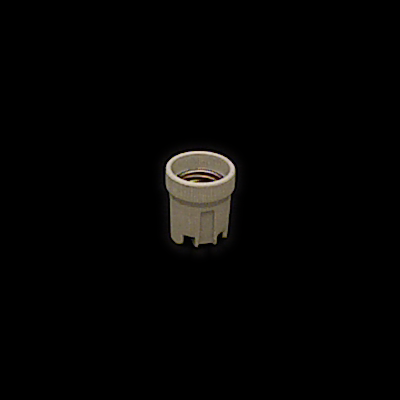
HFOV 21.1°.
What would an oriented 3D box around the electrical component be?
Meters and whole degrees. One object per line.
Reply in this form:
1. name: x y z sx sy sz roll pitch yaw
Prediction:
1. electrical component: 0.000 0.000 0.634 0.040 0.047 0.039 1 32 0
